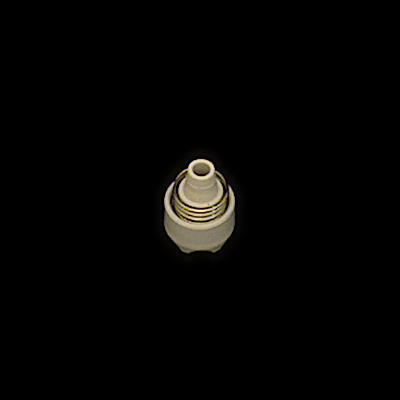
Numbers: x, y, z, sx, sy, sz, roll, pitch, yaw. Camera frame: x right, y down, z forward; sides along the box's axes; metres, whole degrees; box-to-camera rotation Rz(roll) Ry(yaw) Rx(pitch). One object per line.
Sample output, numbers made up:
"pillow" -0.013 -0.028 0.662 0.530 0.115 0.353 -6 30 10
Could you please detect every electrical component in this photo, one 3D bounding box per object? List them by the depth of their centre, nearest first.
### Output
"electrical component" 0.000 0.000 0.635 0.043 0.043 0.062 0 -37 -2
